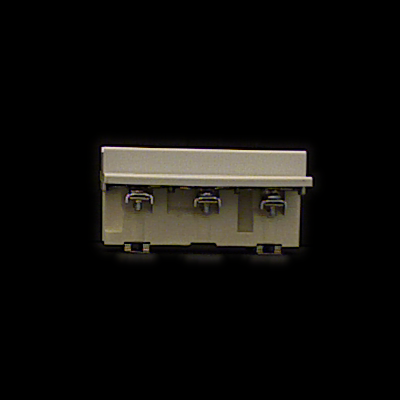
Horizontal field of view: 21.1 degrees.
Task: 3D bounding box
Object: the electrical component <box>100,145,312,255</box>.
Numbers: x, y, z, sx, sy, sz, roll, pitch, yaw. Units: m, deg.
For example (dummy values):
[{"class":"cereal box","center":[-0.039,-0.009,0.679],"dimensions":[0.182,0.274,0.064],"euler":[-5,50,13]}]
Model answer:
[{"class":"electrical component","center":[0.000,0.000,0.661],"dimensions":[0.121,0.063,0.078],"euler":[1,2,-7]}]
